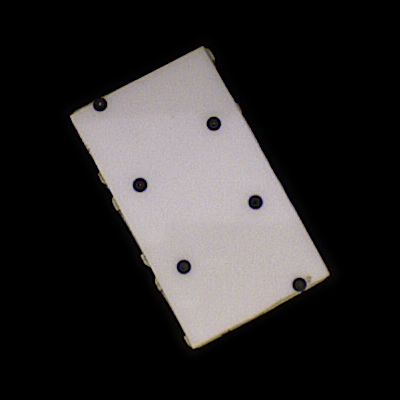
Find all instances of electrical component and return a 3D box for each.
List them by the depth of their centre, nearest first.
[{"bbox_3d":[0.000,0.000,0.631,0.090,0.150,0.061,-28,-6,-3],"label":"electrical component"}]
